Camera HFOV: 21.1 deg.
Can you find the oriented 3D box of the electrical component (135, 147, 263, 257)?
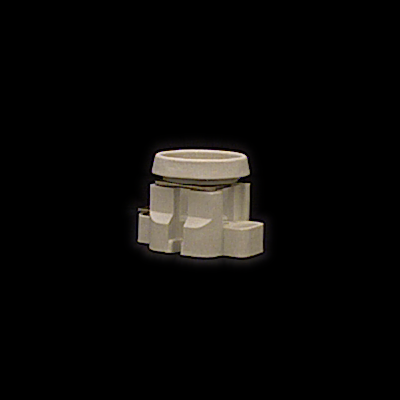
[{"bbox_3d":[0.000,0.000,0.644,0.078,0.057,0.058,8,13,31],"label":"electrical component"}]
